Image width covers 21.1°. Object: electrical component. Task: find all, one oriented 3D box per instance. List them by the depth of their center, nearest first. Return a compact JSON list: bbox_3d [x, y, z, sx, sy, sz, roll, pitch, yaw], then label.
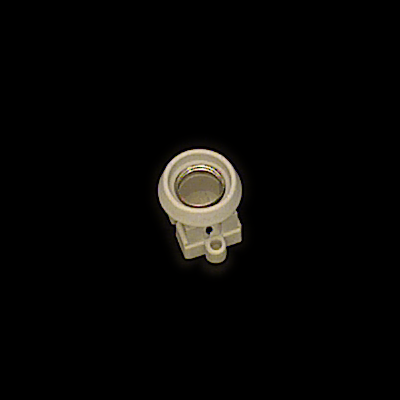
[{"bbox_3d":[0.000,0.000,0.637,0.049,0.066,0.055,-19,-25,-11],"label":"electrical component"}]
